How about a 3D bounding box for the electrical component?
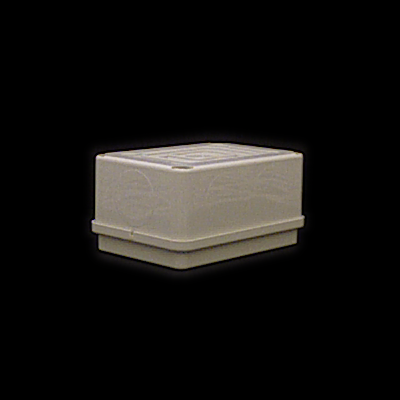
[{"bbox_3d":[0.000,0.000,0.644,0.077,0.057,0.113,11,15,42],"label":"electrical component"}]
